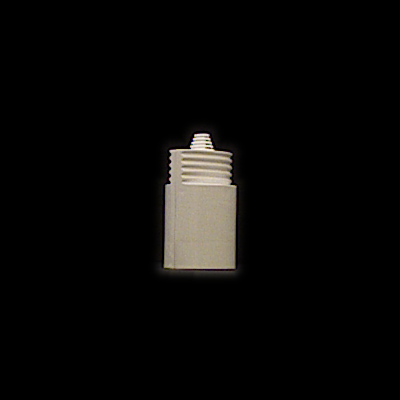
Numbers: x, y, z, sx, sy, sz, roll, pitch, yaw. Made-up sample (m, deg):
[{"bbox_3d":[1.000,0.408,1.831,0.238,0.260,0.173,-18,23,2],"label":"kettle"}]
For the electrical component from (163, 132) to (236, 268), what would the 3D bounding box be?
[{"bbox_3d":[0.000,0.000,0.650,0.043,0.081,0.043,1,1,0],"label":"electrical component"}]
